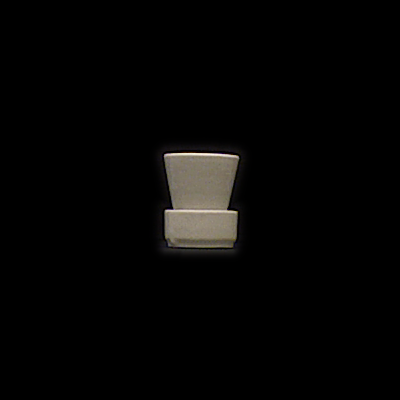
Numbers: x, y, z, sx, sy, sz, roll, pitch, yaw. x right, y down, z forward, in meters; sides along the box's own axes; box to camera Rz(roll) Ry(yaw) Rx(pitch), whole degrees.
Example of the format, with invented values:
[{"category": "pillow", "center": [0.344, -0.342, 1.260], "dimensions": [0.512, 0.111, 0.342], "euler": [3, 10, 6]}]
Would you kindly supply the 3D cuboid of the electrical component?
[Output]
[{"category": "electrical component", "center": [0.000, 0.000, 0.649], "dimensions": [0.045, 0.055, 0.045], "euler": [1, 0, 0]}]
